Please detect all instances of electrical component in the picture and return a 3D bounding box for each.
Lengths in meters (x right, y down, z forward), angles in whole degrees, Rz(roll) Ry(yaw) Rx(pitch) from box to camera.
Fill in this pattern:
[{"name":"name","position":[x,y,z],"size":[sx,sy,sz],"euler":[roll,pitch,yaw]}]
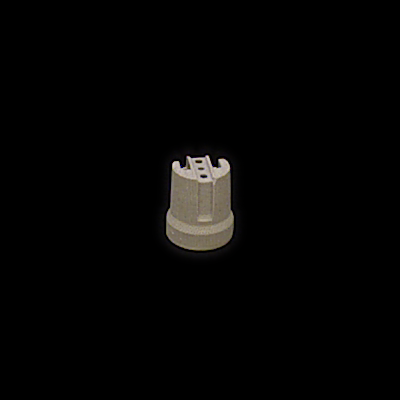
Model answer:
[{"name":"electrical component","position":[0.000,0.000,0.639],"size":[0.040,0.046,0.040],"euler":[1,32,-1]}]
